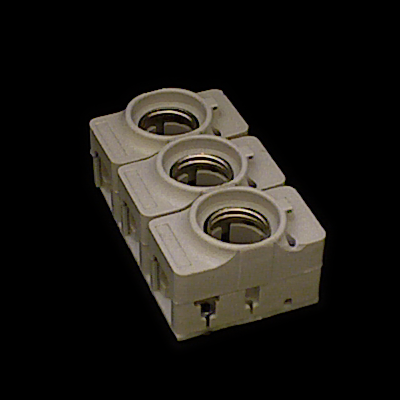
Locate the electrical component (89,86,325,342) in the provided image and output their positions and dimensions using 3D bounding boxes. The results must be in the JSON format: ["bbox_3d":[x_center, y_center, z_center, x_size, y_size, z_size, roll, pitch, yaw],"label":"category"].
[{"bbox_3d":[0.000,0.000,0.637,0.089,0.063,0.147,-15,45,-18],"label":"electrical component"}]
